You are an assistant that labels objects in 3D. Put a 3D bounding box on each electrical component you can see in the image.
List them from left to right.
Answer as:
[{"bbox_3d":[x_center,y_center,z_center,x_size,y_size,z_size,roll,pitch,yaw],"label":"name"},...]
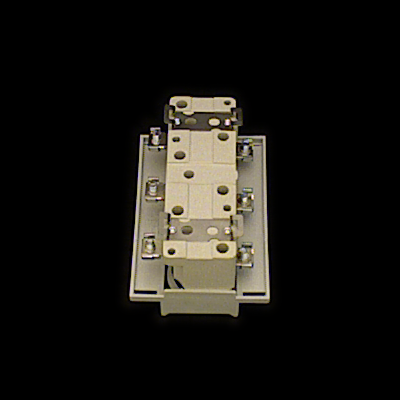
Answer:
[{"bbox_3d":[0.000,0.000,0.636,0.079,0.120,0.063,1,-37,0],"label":"electrical component"}]
